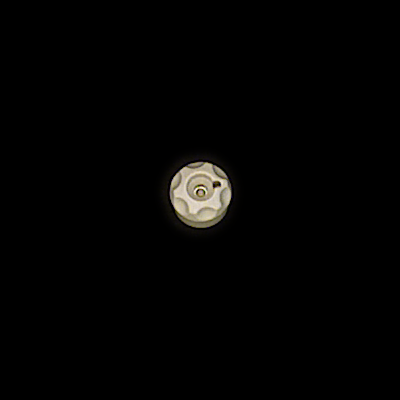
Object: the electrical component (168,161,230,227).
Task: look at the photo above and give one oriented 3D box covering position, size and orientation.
[{"bbox_3d":[0.000,0.000,0.633,0.035,0.035,0.061,0,-15,1],"label":"electrical component"}]
